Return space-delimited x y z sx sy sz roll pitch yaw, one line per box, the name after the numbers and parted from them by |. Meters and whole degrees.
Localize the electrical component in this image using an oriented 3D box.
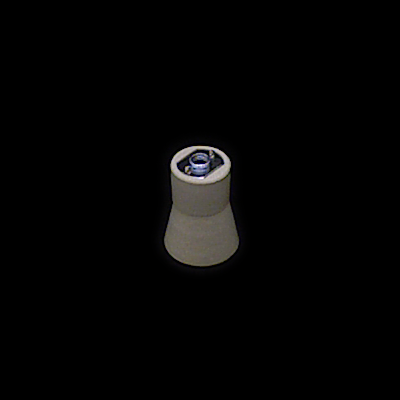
0.000 0.000 0.630 0.044 0.066 0.044 0 41 0 | electrical component
